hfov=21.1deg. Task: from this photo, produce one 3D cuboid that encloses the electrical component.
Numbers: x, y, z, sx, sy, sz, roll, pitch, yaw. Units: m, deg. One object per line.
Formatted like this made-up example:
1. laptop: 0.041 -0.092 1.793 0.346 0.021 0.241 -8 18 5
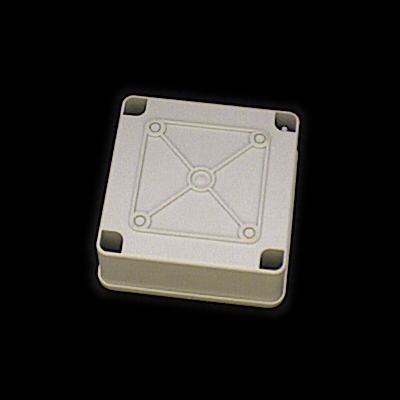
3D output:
1. electrical component: 0.000 0.000 0.629 0.109 0.108 0.056 6 -27 2
